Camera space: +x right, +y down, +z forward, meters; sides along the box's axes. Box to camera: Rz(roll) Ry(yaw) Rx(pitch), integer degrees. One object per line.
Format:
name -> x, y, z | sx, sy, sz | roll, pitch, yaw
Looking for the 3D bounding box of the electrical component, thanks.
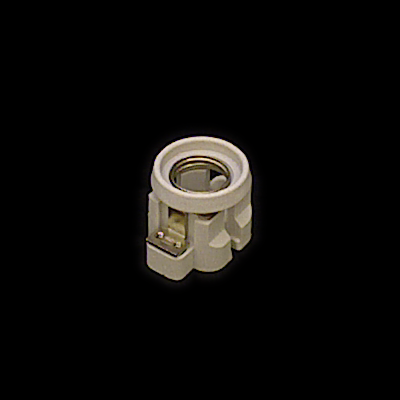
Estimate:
electrical component -> 0.000, 0.000, 0.630 | 0.057, 0.057, 0.078 | 26, 48, 25
